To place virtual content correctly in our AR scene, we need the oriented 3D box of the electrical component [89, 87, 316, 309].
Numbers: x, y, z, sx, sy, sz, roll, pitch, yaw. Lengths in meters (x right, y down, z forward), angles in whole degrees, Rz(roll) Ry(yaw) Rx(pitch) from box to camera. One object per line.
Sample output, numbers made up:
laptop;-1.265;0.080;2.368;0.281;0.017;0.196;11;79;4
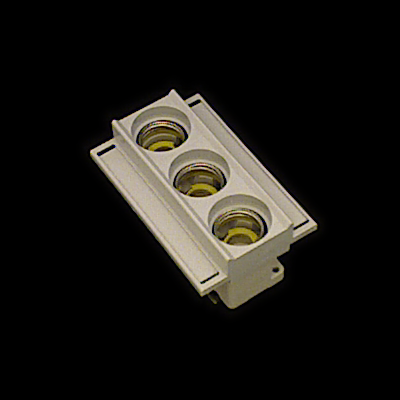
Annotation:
electrical component;0.000;0.000;0.638;0.079;0.120;0.063;-29;-32;-18
